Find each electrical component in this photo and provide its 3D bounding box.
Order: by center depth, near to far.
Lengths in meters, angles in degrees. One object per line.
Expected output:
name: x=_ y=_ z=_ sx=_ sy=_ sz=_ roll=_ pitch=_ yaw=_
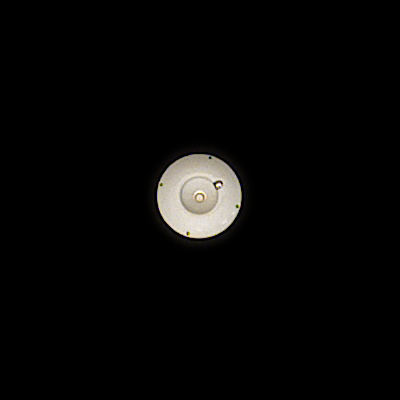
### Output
electrical component: x=0.000 y=0.000 z=0.634 sx=0.048 sy=0.048 sz=0.062 roll=0 pitch=-5 yaw=0
